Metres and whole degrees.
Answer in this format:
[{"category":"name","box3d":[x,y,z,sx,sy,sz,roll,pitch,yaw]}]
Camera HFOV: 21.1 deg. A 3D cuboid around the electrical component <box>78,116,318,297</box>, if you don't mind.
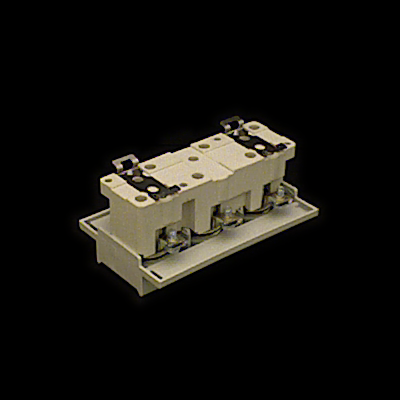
[{"category":"electrical component","box3d":[0.000,0.000,0.640,0.121,0.064,0.077,-23,40,-33]}]
